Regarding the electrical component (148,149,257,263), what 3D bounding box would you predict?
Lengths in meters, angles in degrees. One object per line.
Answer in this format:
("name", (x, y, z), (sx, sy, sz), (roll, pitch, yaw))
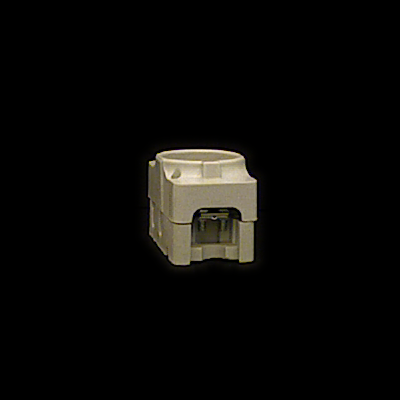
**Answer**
("electrical component", (0.000, 0.000, 0.651), (0.050, 0.056, 0.088), (-2, 11, -13))
